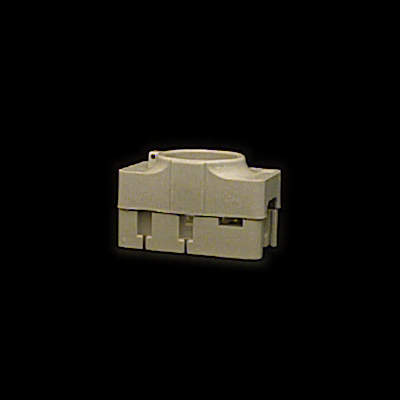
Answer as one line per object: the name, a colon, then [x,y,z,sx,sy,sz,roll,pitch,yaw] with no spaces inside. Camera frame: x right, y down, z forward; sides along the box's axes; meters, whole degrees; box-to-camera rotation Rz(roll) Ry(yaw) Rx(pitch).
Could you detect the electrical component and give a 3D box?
electrical component: [0.000,0.000,0.652,0.089,0.056,0.050,5,12,16]
